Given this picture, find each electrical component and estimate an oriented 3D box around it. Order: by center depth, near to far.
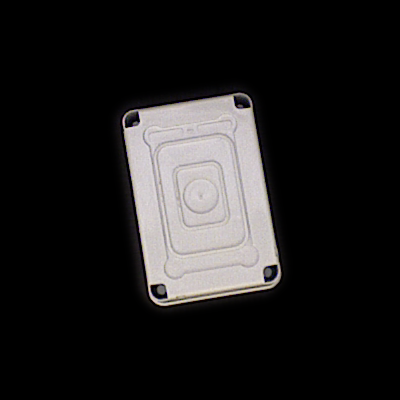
[{"bbox_3d":[0.000,0.000,0.629,0.078,0.113,0.057,-9,-7,-1],"label":"electrical component"}]
